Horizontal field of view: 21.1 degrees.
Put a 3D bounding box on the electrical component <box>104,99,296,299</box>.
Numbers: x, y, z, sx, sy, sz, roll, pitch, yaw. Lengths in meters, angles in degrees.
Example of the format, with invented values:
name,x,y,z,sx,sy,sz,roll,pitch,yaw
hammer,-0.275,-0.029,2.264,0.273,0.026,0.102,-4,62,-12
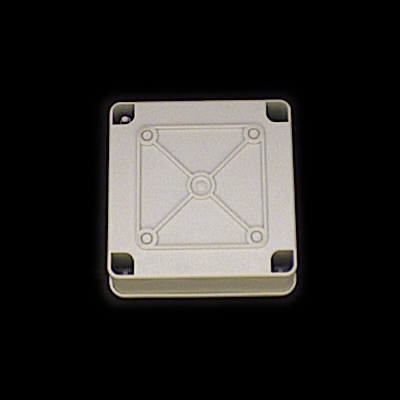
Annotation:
name,x,y,z,sx,sy,sz,roll,pitch,yaw
electrical component,0.000,0.000,0.628,0.109,0.109,0.056,-1,-18,0
